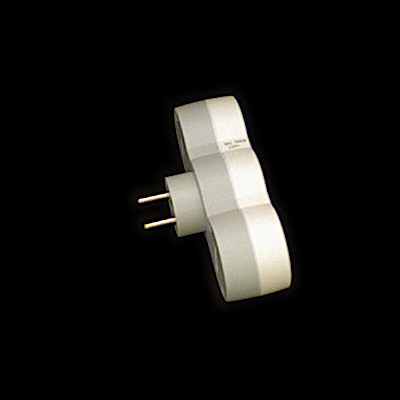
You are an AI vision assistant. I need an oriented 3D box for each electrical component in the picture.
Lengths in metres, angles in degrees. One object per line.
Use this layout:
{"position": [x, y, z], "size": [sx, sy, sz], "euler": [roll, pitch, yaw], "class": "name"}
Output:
{"position": [0.000, 0.000, 0.639], "size": [0.074, 0.137, 0.052], "euler": [-12, -36, -7], "class": "electrical component"}
